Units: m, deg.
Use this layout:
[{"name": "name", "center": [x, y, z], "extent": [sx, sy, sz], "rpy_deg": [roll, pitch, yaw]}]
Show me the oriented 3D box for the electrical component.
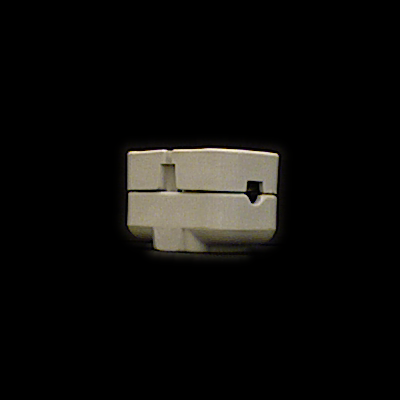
[{"name": "electrical component", "center": [0.000, 0.000, 0.654], "extent": [0.054, 0.059, 0.094], "rpy_deg": [0, 2, -43]}]
